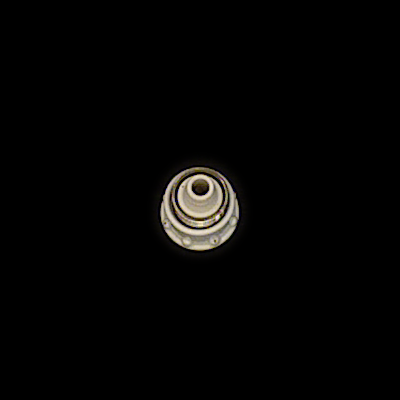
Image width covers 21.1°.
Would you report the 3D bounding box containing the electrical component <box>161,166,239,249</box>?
[{"bbox_3d":[0.000,0.000,0.633,0.048,0.048,0.061,0,-16,-1],"label":"electrical component"}]
